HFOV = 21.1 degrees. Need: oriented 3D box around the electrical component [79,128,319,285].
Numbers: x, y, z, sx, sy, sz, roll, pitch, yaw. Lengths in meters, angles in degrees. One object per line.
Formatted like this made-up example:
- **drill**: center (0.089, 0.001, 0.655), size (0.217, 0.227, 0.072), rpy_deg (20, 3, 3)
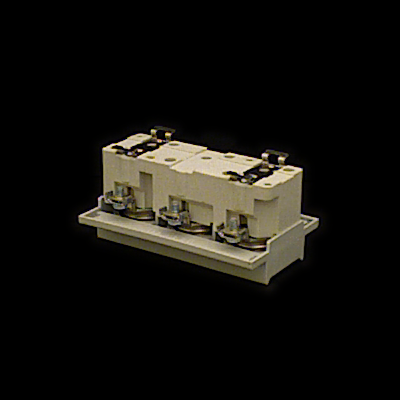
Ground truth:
- **electrical component**: center (0.000, 0.000, 0.643), size (0.120, 0.064, 0.078), rpy_deg (14, 26, 30)
